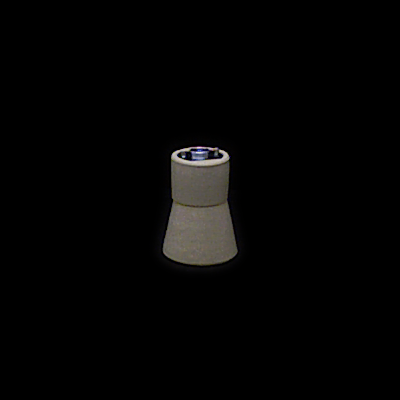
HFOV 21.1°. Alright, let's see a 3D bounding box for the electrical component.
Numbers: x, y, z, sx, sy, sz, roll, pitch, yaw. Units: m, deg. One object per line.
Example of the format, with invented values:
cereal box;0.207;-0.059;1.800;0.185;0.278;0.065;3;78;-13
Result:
electrical component;0.000;0.000;0.640;0.044;0.066;0.044;0;20;0
